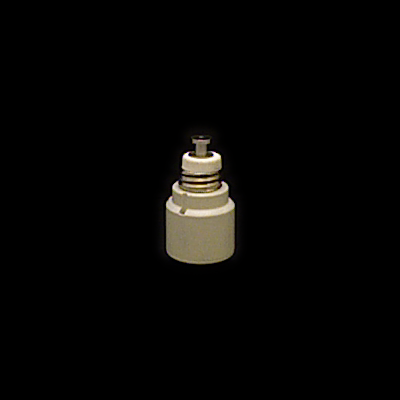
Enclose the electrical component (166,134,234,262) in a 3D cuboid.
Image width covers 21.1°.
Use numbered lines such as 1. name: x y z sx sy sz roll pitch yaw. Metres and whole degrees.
1. electrical component: 0.000 0.000 0.637 0.040 0.079 0.039 1 22 0
